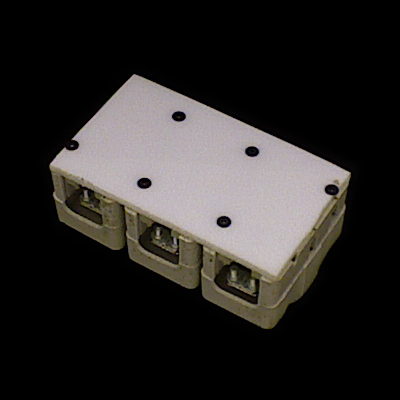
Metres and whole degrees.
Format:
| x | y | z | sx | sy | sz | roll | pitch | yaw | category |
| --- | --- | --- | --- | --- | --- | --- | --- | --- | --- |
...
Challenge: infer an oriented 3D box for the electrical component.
| x | y | z | sx | sy | sz | roll | pitch | yaw | category |
| --- | --- | --- | --- | --- | --- | --- | --- | --- | --- |
| 0.000 | 0.000 | 0.633 | 0.149 | 0.089 | 0.062 | 26 | -34 | 19 | electrical component |
